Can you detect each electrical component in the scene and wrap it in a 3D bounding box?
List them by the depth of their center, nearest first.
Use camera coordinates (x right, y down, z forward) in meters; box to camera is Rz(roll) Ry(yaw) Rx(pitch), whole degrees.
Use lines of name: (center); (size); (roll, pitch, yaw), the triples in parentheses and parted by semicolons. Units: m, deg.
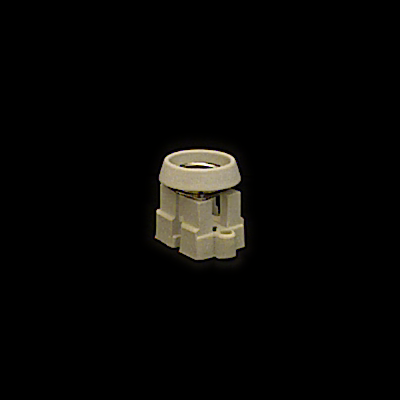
electrical component: (0.000, 0.000, 0.647); (0.049, 0.056, 0.065); (-14, 27, -37)
